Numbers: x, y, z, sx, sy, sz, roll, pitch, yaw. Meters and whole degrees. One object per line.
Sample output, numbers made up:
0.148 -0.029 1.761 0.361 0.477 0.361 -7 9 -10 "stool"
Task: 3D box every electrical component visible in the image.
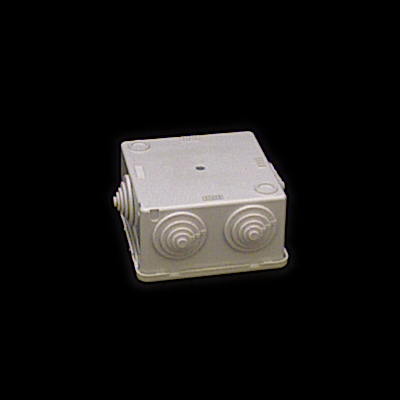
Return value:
0.000 0.000 0.636 0.100 0.049 0.098 -5 32 -10 "electrical component"
